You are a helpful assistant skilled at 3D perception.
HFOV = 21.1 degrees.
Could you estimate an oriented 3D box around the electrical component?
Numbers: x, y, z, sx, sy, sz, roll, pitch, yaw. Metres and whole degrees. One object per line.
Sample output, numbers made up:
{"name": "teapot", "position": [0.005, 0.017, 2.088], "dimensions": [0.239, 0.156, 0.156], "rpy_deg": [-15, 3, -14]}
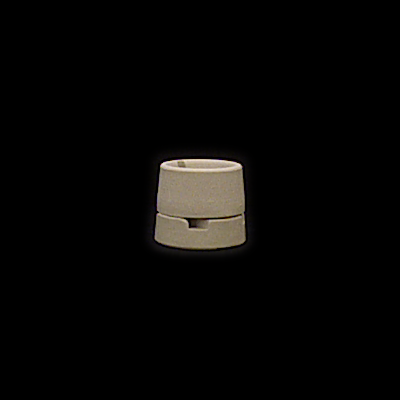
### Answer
{"name": "electrical component", "position": [0.000, 0.000, 0.647], "dimensions": [0.055, 0.047, 0.055], "rpy_deg": [1, 10, 0]}
